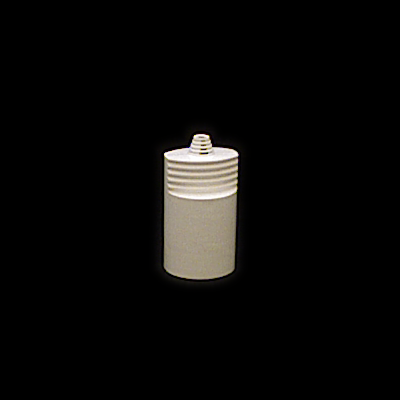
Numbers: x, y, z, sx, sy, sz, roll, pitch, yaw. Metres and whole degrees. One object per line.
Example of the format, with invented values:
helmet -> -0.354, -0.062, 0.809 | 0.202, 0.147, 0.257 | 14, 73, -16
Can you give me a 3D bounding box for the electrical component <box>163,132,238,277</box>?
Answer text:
electrical component -> 0.000, 0.000, 0.635 | 0.043, 0.082, 0.042 | 1, 21, 0
